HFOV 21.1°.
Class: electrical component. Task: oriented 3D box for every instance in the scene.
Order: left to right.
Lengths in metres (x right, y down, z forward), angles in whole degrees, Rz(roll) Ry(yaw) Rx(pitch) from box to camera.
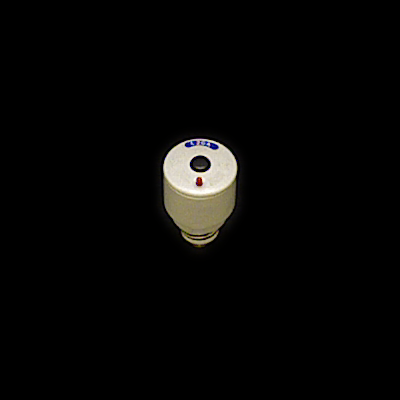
[{"bbox_3d":[0.000,0.000,0.619,0.040,0.040,0.078,0,-37,-1],"label":"electrical component"}]
